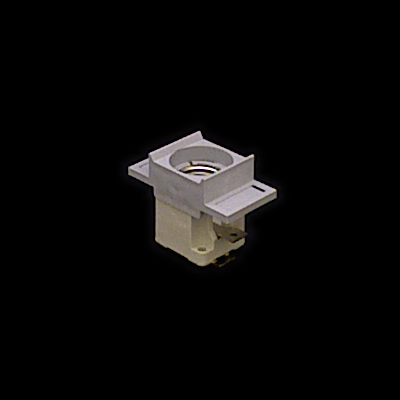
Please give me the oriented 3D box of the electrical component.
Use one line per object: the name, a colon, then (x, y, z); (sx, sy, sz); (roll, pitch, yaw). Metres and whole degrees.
electrical component: (0.000, 0.000, 0.631); (0.080, 0.064, 0.042); (27, 39, 37)
